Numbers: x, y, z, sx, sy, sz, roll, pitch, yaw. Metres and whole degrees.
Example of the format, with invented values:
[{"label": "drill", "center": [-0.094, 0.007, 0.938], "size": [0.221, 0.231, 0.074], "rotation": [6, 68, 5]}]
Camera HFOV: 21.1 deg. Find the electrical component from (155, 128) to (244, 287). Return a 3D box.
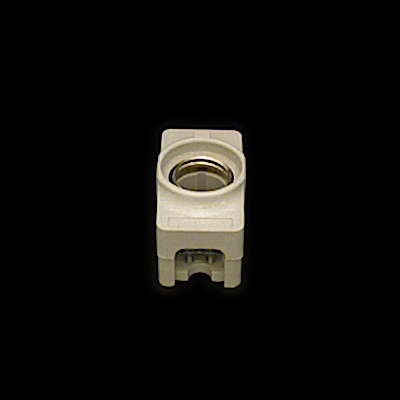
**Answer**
[{"label": "electrical component", "center": [0.000, 0.000, 0.639], "size": [0.050, 0.056, 0.088], "rotation": [1, 43, 0]}]
